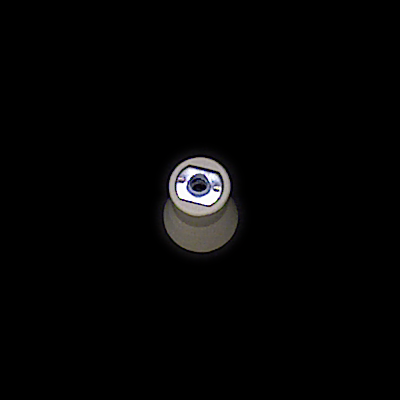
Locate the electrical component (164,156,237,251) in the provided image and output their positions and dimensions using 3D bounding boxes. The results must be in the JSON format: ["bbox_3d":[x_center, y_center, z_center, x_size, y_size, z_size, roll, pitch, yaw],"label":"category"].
[{"bbox_3d":[0.000,0.000,0.625,0.044,0.044,0.065,0,-18,0],"label":"electrical component"}]
